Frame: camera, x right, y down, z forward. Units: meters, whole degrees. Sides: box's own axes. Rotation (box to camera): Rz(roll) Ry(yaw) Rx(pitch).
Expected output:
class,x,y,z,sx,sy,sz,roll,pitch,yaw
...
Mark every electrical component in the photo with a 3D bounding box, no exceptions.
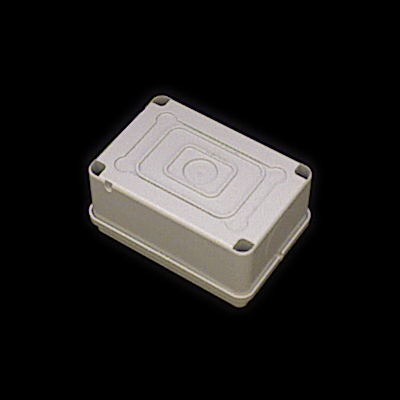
class,x,y,z,sx,sy,sz,roll,pitch,yaw
electrical component,0.000,0.000,0.629,0.113,0.078,0.057,28,-33,19
